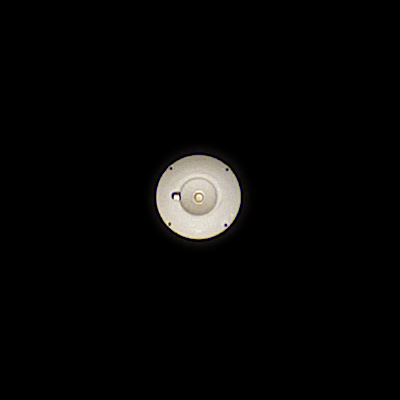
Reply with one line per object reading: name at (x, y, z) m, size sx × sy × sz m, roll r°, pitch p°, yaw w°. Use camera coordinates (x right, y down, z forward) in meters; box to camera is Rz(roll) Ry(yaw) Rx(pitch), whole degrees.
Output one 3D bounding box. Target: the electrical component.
electrical component at (0.000, 0.000, 0.634) m, size 0.048 × 0.048 × 0.061 m, roll 0°, pitch -6°, yaw 1°
